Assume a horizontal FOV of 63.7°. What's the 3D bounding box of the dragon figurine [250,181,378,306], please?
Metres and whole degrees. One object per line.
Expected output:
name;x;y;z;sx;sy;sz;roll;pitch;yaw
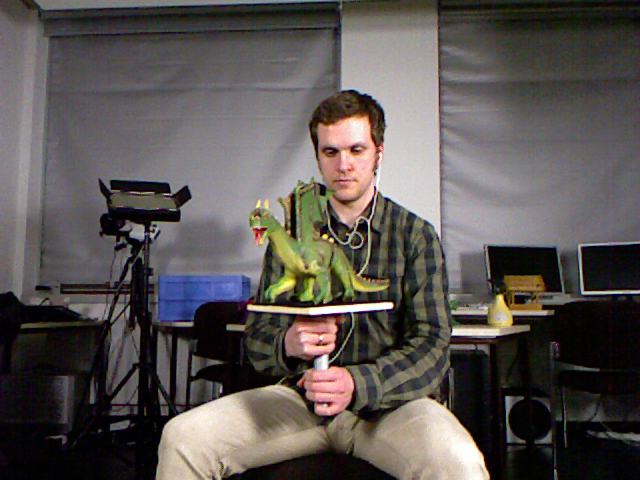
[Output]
dragon figurine;0.000;0.002;1.024;0.122;0.243;0.411;-1;0;35
